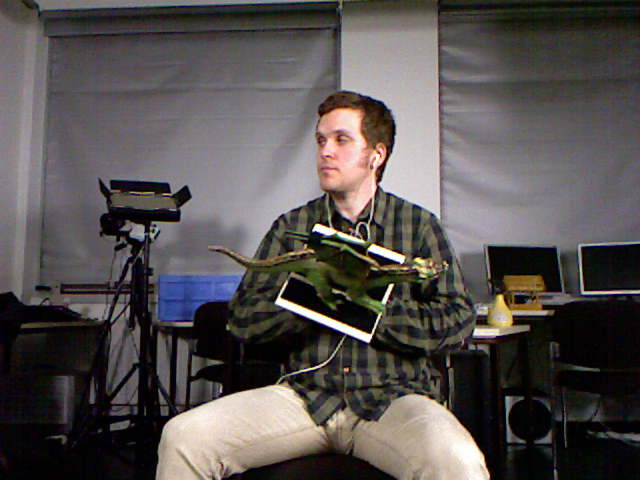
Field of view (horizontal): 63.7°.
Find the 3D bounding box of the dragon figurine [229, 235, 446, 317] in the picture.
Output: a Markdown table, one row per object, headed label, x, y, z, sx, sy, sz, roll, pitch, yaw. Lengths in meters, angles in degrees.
| label | x | y | z | sx | sy | sz | roll | pitch | yaw |
| --- | --- | --- | --- | --- | --- | --- | --- | --- | --- |
| dragon figurine | 0.015 | 0.037 | 0.932 | 0.412 | 0.125 | 0.239 | 9 | -24 | 4 |
